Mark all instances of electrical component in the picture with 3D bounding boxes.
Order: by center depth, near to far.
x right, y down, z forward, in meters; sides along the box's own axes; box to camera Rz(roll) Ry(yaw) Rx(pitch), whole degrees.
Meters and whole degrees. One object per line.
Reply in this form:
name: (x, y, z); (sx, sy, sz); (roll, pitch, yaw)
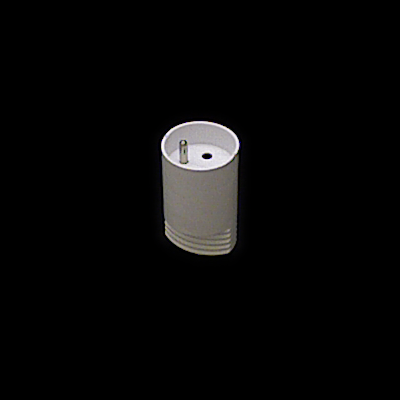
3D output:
electrical component: (0.000, 0.000, 0.622); (0.043, 0.082, 0.042); (0, 41, 0)
